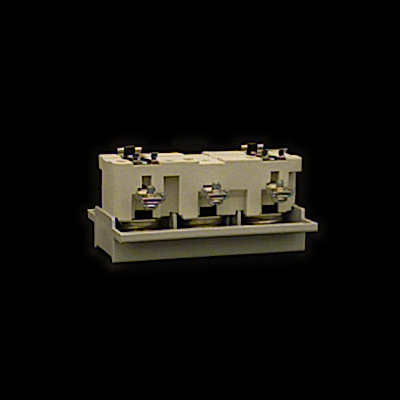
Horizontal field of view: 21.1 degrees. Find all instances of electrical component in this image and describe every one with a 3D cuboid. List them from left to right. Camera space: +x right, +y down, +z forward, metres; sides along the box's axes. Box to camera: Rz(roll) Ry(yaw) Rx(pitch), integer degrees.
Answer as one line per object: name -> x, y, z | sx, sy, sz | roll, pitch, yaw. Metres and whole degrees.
electrical component -> 0.000, 0.000, 0.654 | 0.122, 0.063, 0.077 | -2, 11, -20
